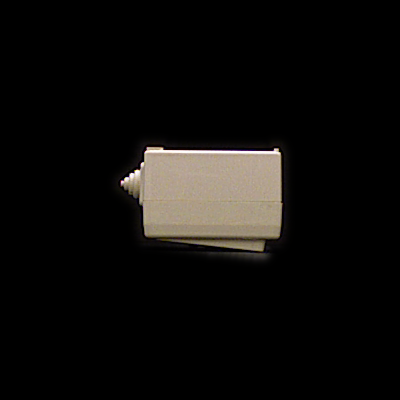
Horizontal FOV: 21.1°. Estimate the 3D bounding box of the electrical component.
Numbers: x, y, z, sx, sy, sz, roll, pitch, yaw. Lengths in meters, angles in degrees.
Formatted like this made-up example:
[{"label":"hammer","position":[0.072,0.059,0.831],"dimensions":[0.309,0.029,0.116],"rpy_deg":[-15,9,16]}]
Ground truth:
[{"label":"electrical component","position":[0.000,0.000,0.652],"dimensions":[0.096,0.061,0.061],"rpy_deg":[1,1,-1]}]
